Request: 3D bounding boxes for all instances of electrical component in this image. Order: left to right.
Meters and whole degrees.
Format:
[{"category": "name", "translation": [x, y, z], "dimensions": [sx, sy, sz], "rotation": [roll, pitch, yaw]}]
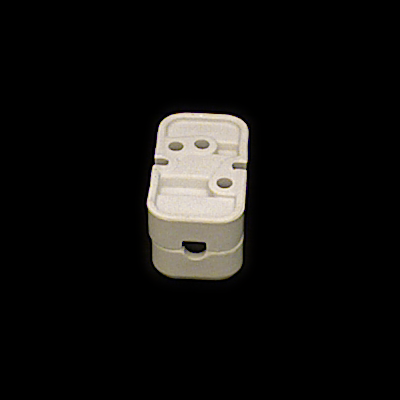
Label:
[{"category": "electrical component", "translation": [0.000, 0.000, 0.637], "dimensions": [0.054, 0.060, 0.094], "rotation": [3, 43, 2]}]
